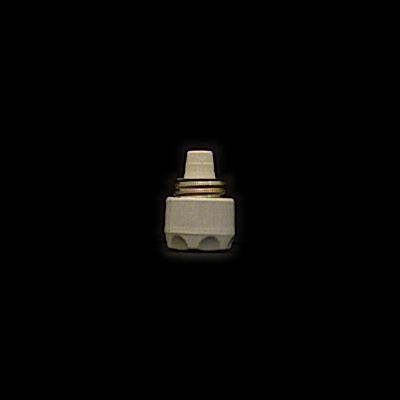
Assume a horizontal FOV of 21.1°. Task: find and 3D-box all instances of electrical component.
[{"bbox_3d":[0.000,0.000,0.657,0.043,0.062,0.043,0,1,1],"label":"electrical component"}]
